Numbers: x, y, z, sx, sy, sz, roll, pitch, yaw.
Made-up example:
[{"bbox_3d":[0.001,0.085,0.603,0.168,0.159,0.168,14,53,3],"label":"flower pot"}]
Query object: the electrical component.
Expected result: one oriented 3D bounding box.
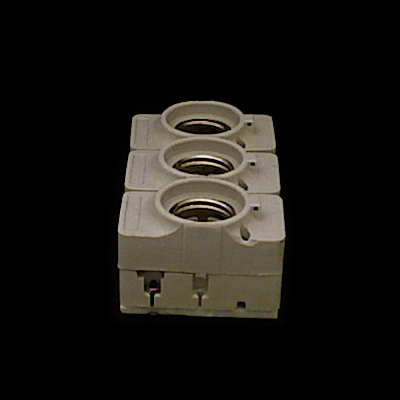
[{"bbox_3d":[0.000,0.000,0.641,0.089,0.063,0.146,1,31,-1],"label":"electrical component"}]
